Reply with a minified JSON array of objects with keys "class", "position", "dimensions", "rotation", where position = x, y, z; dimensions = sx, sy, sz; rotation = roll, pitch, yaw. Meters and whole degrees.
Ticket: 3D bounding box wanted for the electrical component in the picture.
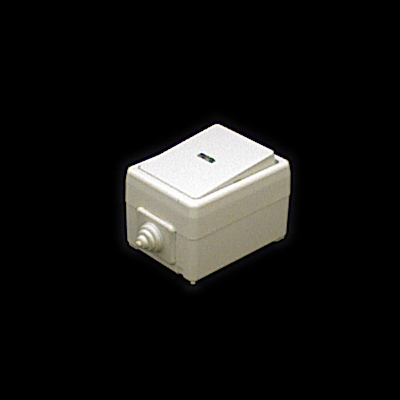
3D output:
[{"class":"electrical component","position":[0.000,0.000,0.633],"dimensions":[0.096,0.061,0.061],"rotation":[-25,40,-36]}]
